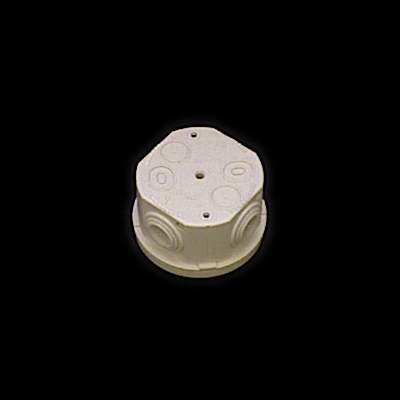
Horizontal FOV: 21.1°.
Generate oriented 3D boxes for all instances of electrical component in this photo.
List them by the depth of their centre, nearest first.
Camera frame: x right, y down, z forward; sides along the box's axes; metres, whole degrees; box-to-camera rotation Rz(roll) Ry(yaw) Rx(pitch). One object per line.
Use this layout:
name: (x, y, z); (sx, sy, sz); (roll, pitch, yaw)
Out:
electrical component: (0.000, 0.000, 0.632); (0.080, 0.080, 0.051); (0, -37, -1)
